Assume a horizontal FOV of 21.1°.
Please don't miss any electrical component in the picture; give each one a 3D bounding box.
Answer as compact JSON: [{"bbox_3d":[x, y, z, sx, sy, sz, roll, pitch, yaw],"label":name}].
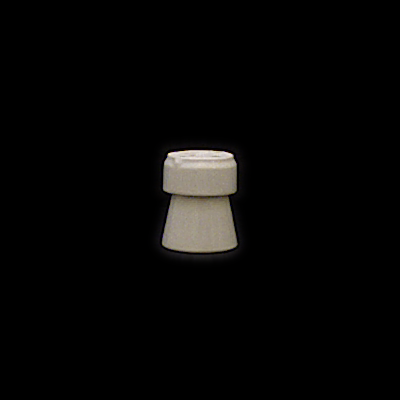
[{"bbox_3d":[0.000,0.000,0.645,0.045,0.055,0.044,1,11,0],"label":"electrical component"}]
